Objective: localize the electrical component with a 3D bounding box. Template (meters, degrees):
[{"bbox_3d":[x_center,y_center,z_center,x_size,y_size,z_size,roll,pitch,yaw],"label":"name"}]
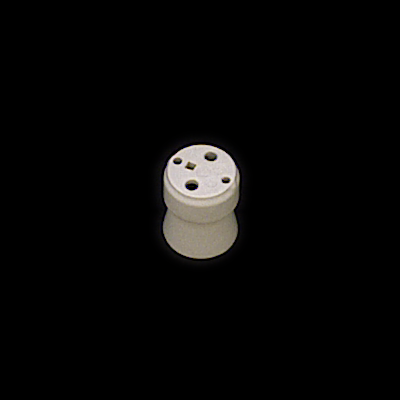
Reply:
[{"bbox_3d":[0.000,0.000,0.631,0.045,0.044,0.055,0,-37,-1],"label":"electrical component"}]
